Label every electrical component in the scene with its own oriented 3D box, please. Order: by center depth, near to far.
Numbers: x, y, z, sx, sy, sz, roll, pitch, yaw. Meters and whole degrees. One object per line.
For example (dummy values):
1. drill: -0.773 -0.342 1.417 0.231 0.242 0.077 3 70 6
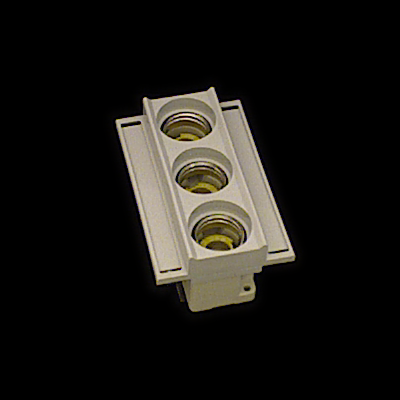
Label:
1. electrical component: 0.000 0.000 0.640 0.079 0.120 0.063 -10 -36 -9
